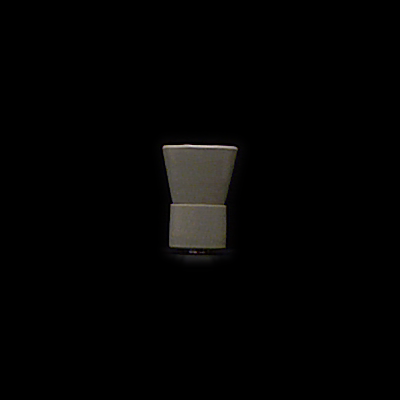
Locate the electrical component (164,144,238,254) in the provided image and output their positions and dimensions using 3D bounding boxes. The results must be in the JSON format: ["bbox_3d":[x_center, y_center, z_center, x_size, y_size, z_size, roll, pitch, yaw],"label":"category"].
[{"bbox_3d":[0.000,0.000,0.648,0.044,0.065,0.044,2,2,0],"label":"electrical component"}]
